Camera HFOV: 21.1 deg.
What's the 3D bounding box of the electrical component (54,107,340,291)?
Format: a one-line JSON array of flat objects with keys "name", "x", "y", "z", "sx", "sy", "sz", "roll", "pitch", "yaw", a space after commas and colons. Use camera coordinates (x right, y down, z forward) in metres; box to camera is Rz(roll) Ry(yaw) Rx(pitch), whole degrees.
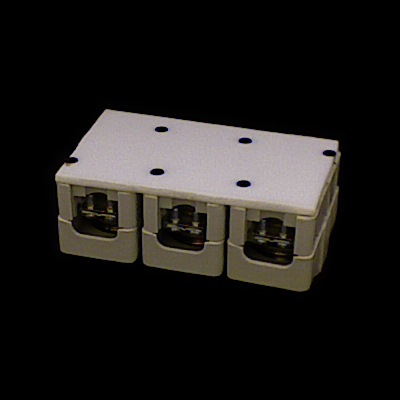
[{"name": "electrical component", "x": 0.000, "y": 0.000, "z": 0.642, "sx": 0.150, "sy": 0.063, "sz": 0.087, "roll": 9, "pitch": 32, "yaw": 12}]
